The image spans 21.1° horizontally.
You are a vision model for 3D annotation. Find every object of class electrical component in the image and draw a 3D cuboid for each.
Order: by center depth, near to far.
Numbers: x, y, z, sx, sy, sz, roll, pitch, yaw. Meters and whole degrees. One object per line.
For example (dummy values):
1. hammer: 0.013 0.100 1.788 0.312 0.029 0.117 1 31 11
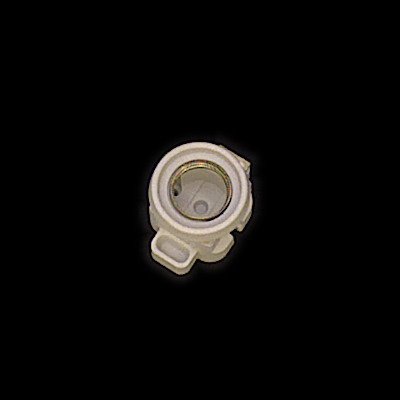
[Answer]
1. electrical component: 0.000 0.000 0.629 0.058 0.079 0.056 31 -14 9
